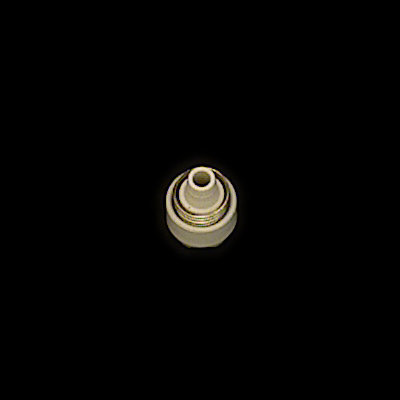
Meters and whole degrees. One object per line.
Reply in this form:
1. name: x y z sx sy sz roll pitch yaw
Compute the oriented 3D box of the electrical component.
1. electrical component: 0.000 0.000 0.633 0.043 0.043 0.062 0 -25 0
